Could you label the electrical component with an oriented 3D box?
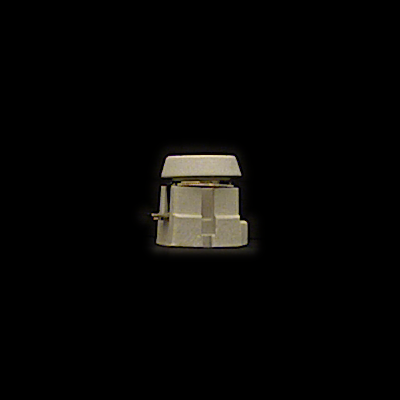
[{"bbox_3d":[0.000,0.000,0.655,0.067,0.055,0.048,1,0,-20],"label":"electrical component"}]
